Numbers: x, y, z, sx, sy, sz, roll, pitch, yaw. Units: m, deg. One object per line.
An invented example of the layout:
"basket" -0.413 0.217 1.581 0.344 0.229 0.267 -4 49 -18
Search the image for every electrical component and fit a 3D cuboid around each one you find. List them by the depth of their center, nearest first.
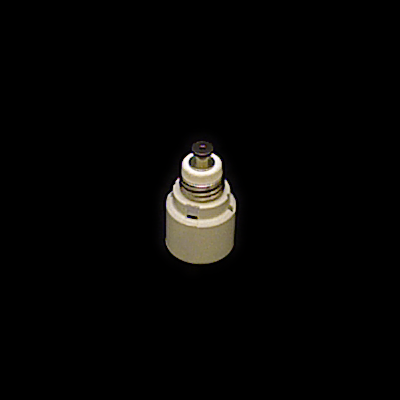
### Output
"electrical component" 0.000 0.000 0.625 0.040 0.079 0.039 1 42 -1
